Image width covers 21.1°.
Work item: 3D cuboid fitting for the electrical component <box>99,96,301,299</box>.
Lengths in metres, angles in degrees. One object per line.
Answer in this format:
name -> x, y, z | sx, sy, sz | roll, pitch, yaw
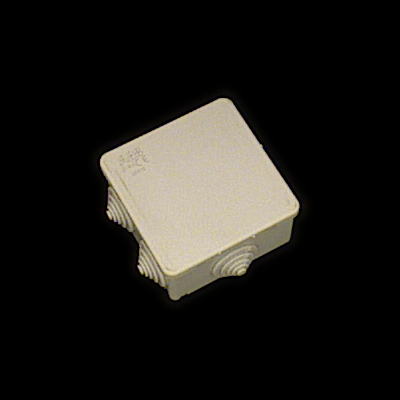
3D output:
electrical component -> 0.000, 0.000, 0.639 | 0.100, 0.099, 0.048 | -26, -23, -13
